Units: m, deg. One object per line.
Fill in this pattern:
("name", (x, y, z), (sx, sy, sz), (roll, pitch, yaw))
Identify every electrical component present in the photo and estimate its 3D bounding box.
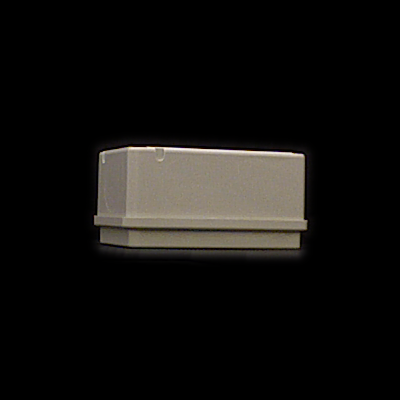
("electrical component", (0.000, 0.000, 0.650), (0.113, 0.057, 0.078), (2, 0, -20))
